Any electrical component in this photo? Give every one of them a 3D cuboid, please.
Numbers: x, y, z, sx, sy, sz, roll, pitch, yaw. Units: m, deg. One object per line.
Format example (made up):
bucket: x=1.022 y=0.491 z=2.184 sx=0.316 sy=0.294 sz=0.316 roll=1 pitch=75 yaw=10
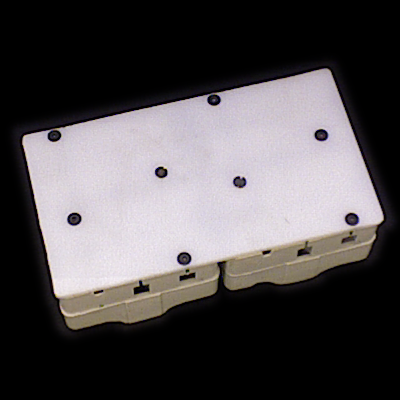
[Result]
electrical component: x=0.000 y=0.000 z=0.626 sx=0.186 sy=0.105 sz=0.060 roll=-13 pitch=-26 yaw=-7
